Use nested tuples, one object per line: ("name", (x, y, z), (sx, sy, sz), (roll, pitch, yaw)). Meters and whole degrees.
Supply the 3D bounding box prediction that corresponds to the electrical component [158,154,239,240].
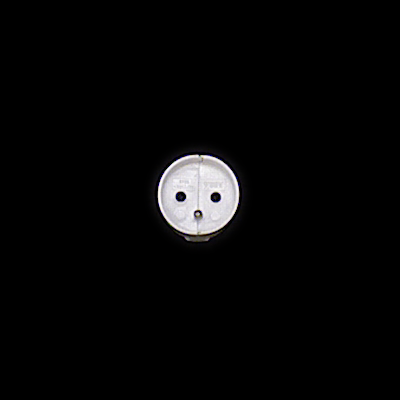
("electrical component", (0.000, 0.000, 0.615), (0.043, 0.043, 0.080), (0, -5, 1))
